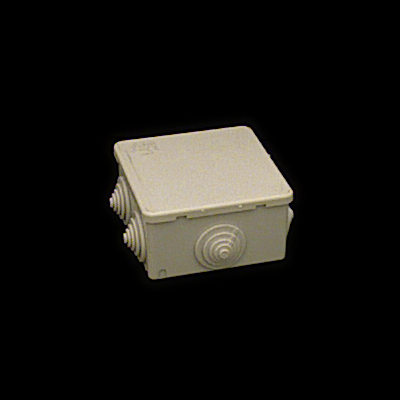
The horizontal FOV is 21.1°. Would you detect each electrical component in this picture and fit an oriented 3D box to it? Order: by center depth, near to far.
[{"bbox_3d":[0.000,0.000,0.644,0.100,0.049,0.098,-8,33,-14],"label":"electrical component"}]
